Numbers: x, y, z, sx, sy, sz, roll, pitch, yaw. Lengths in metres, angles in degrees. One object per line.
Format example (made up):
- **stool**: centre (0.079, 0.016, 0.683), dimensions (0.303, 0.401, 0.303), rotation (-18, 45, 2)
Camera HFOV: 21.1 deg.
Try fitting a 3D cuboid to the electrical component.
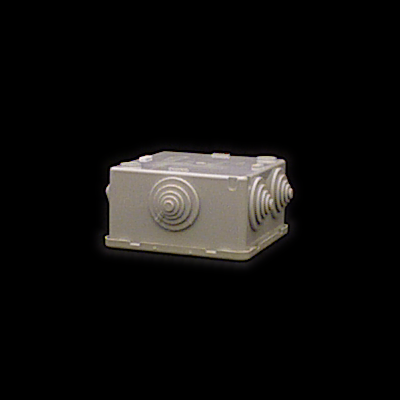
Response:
- **electrical component**: centre (0.000, 0.000, 0.644), dimensions (0.099, 0.049, 0.099), rotation (5, 11, 20)
